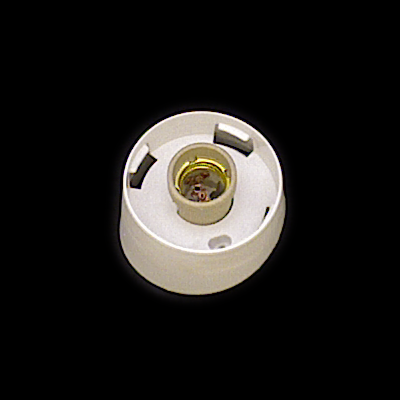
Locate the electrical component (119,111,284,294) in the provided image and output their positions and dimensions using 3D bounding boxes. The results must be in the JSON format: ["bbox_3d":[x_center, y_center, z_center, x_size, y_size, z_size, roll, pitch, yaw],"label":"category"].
[{"bbox_3d":[0.000,0.000,0.625,0.099,0.099,0.064,0,-27,0],"label":"electrical component"}]
